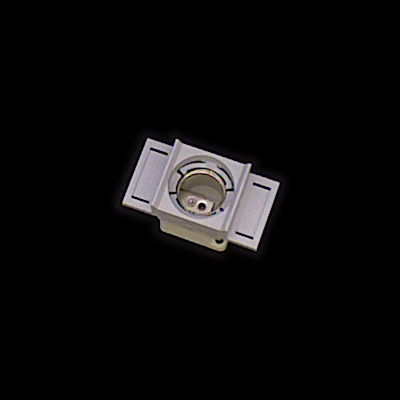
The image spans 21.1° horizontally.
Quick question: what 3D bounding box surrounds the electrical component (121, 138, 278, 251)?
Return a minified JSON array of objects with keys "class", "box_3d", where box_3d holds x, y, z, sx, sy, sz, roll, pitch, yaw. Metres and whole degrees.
[{"class":"electrical component","box_3d":[0.000,0.000,0.624,0.081,0.042,0.063,19,-14,5]}]
